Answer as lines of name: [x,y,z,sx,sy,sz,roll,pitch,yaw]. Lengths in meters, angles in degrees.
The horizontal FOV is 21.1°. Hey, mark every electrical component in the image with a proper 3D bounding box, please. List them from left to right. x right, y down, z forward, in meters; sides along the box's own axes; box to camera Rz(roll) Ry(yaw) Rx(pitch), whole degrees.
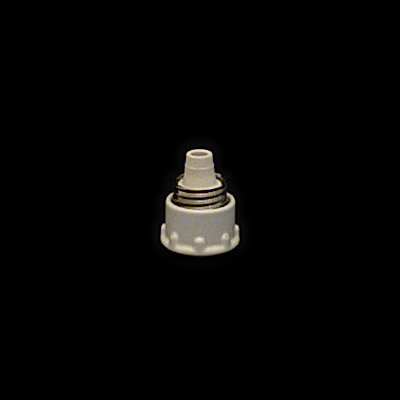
electrical component: [0.000,0.000,0.644,0.048,0.063,0.047,0,22,1]
